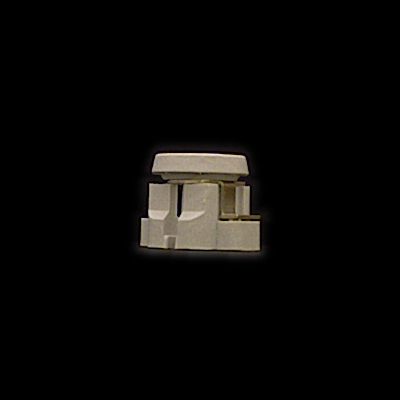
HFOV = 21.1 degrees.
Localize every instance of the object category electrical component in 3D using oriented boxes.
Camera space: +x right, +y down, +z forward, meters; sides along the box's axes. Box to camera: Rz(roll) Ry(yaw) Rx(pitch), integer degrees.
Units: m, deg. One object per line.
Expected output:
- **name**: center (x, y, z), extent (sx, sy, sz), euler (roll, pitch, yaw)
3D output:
- **electrical component**: center (0.000, 0.000, 0.649), extent (0.078, 0.057, 0.058), euler (2, 1, 40)
